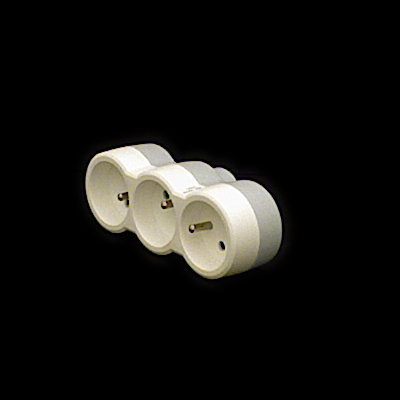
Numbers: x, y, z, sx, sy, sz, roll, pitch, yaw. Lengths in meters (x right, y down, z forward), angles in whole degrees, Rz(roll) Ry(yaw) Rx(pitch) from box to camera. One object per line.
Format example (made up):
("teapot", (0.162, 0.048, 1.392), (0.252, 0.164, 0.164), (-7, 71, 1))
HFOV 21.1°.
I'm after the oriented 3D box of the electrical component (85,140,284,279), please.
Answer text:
("electrical component", (0.000, 0.000, 0.648), (0.074, 0.053, 0.136), (-16, 27, -40))
